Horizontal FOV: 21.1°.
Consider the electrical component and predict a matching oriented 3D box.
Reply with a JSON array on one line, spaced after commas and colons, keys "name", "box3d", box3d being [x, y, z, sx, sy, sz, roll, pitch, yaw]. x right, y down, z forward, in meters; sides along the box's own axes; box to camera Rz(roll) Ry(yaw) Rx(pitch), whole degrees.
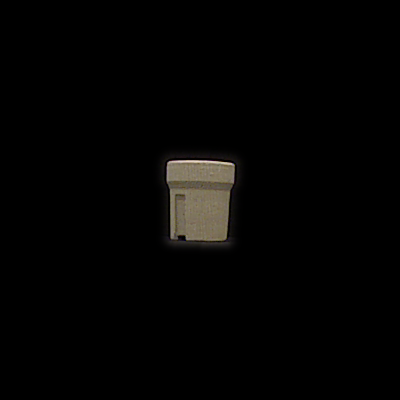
[{"name": "electrical component", "box3d": [0.000, 0.000, 0.650, 0.040, 0.046, 0.040, 1, 1, 0]}]
